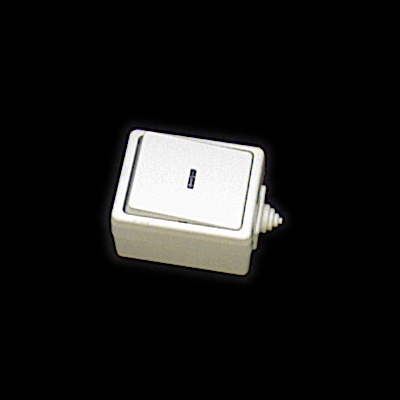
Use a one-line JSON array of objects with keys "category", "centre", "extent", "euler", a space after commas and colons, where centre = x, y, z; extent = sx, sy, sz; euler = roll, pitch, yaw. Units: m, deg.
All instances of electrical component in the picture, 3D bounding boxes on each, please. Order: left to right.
[{"category": "electrical component", "centre": [0.000, 0.000, 0.626], "extent": [0.096, 0.062, 0.061], "euler": [9, -27, 4]}]
